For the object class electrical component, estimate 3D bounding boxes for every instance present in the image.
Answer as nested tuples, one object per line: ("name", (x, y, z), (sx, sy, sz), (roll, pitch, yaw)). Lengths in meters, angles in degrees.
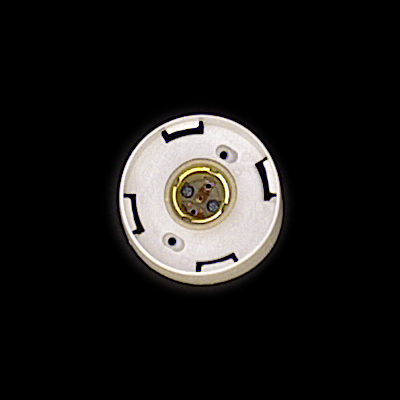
("electrical component", (0.000, 0.000, 0.625), (0.099, 0.099, 0.064), (0, -6, 0))
